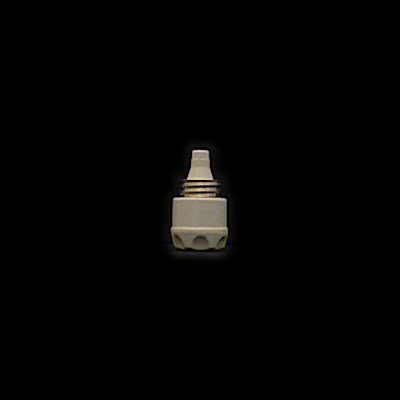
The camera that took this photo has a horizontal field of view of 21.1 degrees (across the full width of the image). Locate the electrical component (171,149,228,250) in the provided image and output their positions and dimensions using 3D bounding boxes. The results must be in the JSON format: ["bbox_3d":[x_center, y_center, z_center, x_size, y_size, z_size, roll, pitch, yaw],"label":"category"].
[{"bbox_3d":[0.000,0.000,0.661,0.035,0.061,0.035,1,0,0],"label":"electrical component"}]
